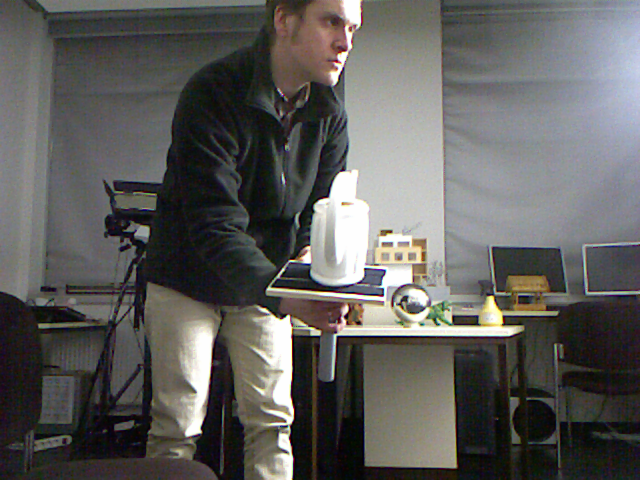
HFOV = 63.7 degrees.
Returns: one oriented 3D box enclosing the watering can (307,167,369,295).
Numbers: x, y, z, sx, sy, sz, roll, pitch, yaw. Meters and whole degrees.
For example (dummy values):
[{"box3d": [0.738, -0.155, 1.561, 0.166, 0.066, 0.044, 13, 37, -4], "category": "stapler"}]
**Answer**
[{"box3d": [0.042, -0.029, 0.972, 0.104, 0.222, 0.351, 7, 13, 7], "category": "watering can"}]
